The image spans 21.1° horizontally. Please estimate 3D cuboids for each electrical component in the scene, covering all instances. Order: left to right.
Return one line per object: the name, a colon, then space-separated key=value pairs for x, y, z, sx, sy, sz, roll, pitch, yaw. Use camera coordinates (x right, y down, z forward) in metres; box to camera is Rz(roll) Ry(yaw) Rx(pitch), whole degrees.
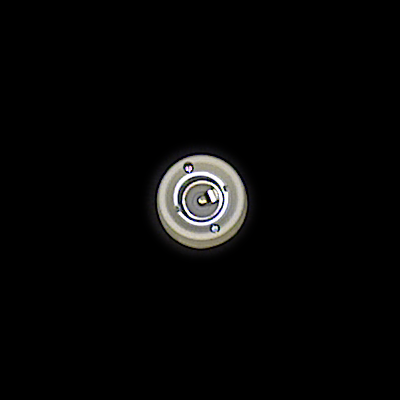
electrical component: x=0.000 y=0.000 z=0.633 sx=0.055 sy=0.055 sz=0.047 roll=0 pitch=-6 yaw=0
